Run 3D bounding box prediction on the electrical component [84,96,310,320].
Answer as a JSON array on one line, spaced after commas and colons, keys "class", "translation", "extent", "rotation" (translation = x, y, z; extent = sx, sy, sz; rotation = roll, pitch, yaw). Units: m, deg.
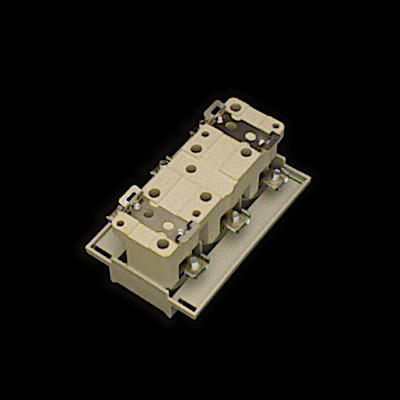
[{"class": "electrical component", "translation": [0.000, 0.000, 0.634], "extent": [0.078, 0.121, 0.063], "rotation": [30, -31, 20]}]
